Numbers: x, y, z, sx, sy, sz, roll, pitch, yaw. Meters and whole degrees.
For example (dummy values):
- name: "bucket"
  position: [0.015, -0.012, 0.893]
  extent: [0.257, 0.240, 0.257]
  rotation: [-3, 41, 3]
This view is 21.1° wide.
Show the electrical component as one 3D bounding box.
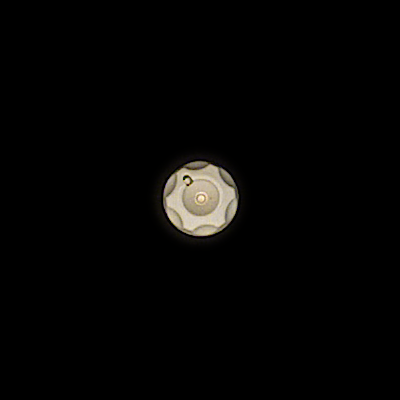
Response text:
- name: "electrical component"
  position: [0.000, 0.000, 0.635]
  extent: [0.043, 0.043, 0.062]
  rotation: [0, -5, 0]
